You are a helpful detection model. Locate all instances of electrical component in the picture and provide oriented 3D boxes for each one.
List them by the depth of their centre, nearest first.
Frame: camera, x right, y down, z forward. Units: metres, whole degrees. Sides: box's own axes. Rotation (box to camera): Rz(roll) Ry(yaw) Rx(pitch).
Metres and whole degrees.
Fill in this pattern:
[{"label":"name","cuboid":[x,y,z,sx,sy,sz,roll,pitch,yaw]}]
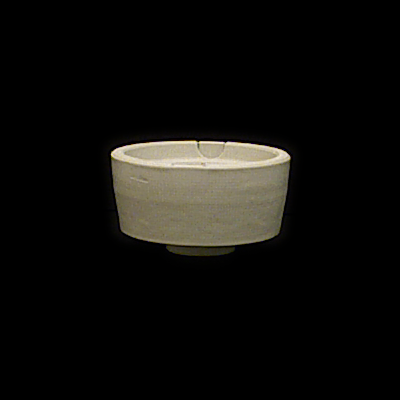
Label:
[{"label":"electrical component","cuboid":[0.000,0.000,0.654,0.108,0.061,0.107,1,11,0]}]
